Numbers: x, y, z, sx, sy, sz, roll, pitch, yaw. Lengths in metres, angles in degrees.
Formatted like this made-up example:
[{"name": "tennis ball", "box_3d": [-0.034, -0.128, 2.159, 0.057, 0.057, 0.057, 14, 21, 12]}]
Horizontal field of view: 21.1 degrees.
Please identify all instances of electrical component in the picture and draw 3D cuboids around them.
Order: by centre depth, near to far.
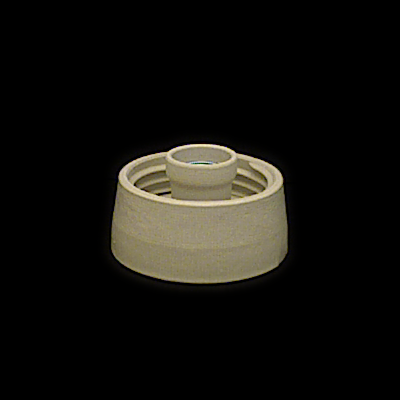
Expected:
[{"name": "electrical component", "box_3d": [0.000, 0.000, 0.646, 0.108, 0.061, 0.106, 1, 21, 0]}]
